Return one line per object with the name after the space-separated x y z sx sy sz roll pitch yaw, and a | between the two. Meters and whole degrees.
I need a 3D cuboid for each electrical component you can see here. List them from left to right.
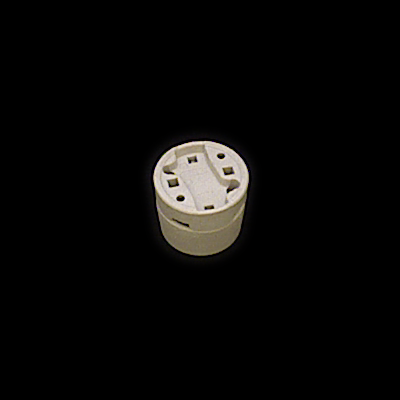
0.000 0.000 0.635 0.055 0.055 0.047 0 -38 -1 | electrical component
